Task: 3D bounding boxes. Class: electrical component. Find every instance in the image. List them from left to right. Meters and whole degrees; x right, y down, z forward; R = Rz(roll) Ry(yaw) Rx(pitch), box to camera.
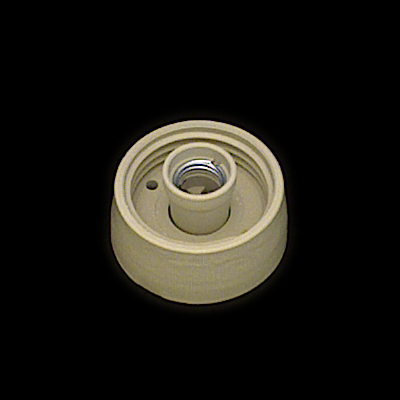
[{"bbox_3d":[0.000,0.000,0.634,0.108,0.107,0.060,0,-37,-1],"label":"electrical component"}]
